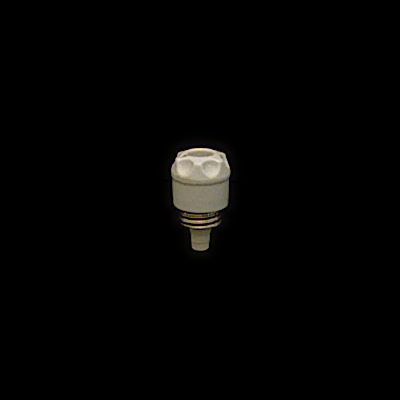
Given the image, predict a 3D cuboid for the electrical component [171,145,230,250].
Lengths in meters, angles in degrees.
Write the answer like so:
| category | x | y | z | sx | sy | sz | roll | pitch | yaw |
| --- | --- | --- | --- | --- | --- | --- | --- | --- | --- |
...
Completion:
| category | x | y | z | sx | sy | sz | roll | pitch | yaw |
| --- | --- | --- | --- | --- | --- | --- | --- | --- | --- |
| electrical component | 0.000 | 0.000 | 0.646 | 0.035 | 0.062 | 0.034 | 1 | 22 | 0 |
